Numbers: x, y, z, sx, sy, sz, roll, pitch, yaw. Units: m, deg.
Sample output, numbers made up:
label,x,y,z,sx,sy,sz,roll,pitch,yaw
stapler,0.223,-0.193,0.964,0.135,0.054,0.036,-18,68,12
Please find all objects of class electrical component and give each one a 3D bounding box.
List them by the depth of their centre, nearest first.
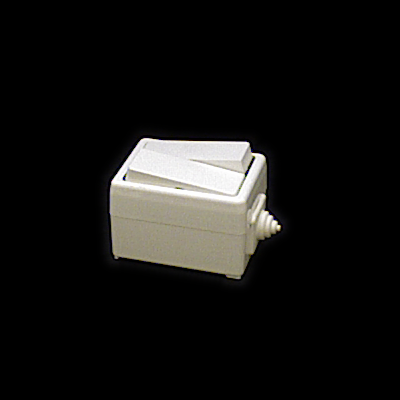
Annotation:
label,x,y,z,sx,sy,sz,roll,pitch,yaw
electrical component,0.000,0.000,0.634,0.096,0.061,0.061,9,32,13
